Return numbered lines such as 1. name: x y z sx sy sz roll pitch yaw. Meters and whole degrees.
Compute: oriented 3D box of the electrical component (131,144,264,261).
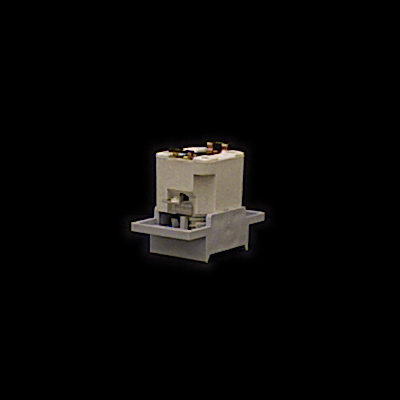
1. electrical component: 0.000 0.000 0.643 0.042 0.064 0.080 9 13 34
